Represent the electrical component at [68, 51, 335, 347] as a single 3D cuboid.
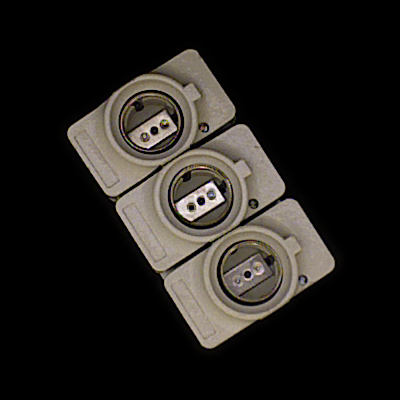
[{"bbox_3d":[0.000,0.000,0.632,0.089,0.150,0.061,-33,-5,-4],"label":"electrical component"}]
